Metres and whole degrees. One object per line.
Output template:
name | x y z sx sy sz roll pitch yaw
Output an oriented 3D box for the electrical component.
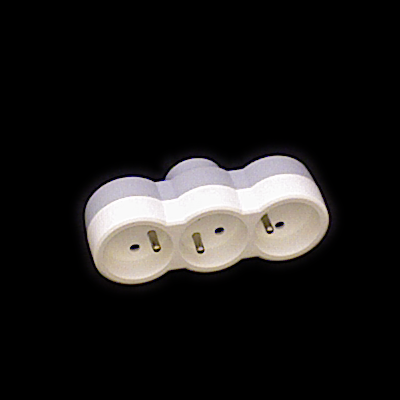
electrical component | 0.000 0.000 0.633 0.138 0.052 0.073 -9 41 -10
